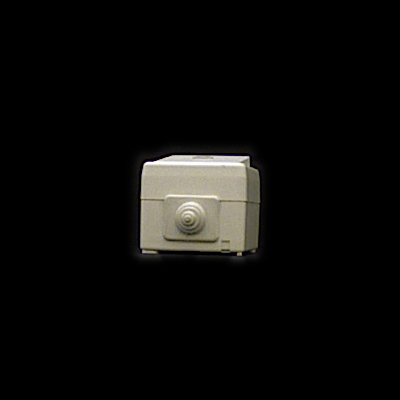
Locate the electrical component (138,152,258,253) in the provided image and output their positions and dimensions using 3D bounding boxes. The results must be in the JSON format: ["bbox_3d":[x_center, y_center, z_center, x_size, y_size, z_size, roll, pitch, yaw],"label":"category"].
[{"bbox_3d":[0.000,0.000,0.648,0.061,0.061,0.096,1,0,9],"label":"electrical component"}]
